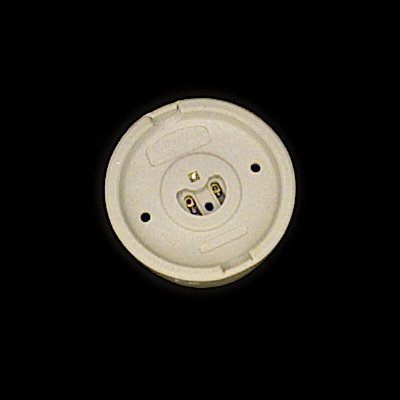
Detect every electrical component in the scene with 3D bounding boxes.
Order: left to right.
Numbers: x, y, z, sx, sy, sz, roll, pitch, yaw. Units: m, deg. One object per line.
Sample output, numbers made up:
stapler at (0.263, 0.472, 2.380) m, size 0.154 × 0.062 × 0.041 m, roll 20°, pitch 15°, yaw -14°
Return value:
electrical component at (0.000, 0.000, 0.634) m, size 0.108 × 0.108 × 0.060 m, roll 0°, pitch -16°, yaw 0°
